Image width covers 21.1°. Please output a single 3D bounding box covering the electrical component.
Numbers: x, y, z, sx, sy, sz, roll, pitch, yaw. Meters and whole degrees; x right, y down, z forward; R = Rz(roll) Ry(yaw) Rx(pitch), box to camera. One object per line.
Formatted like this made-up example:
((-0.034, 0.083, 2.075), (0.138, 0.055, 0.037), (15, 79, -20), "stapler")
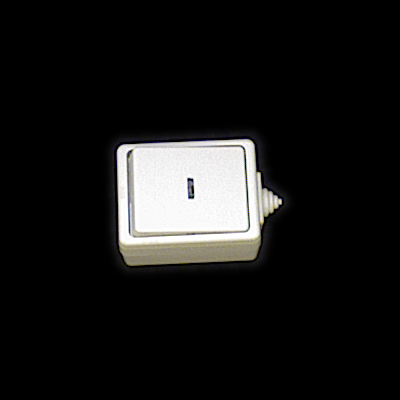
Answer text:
((0.000, 0.000, 0.626), (0.096, 0.062, 0.060), (-3, -17, -1), "electrical component")
